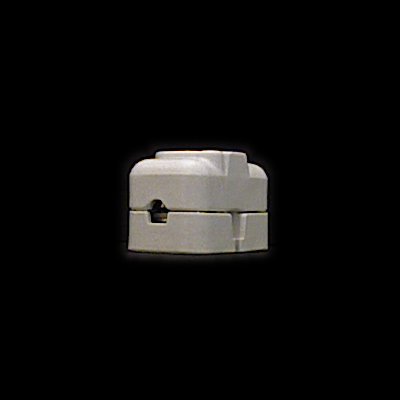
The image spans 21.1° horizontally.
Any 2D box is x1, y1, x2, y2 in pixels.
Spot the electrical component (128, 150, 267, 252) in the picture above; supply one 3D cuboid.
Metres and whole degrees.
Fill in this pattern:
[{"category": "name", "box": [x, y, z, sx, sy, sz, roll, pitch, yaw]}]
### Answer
[{"category": "electrical component", "box": [0.000, 0.000, 0.656, 0.053, 0.059, 0.096, 2, 1, 31]}]
